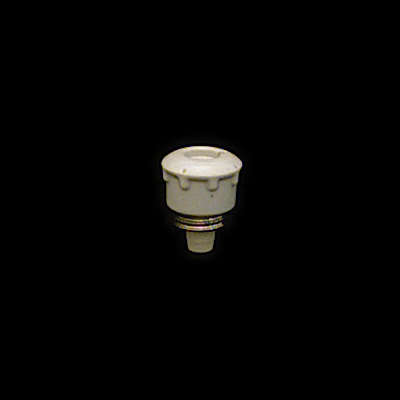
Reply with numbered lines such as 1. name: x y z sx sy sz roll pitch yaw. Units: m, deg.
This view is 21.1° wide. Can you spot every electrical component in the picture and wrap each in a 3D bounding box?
1. electrical component: 0.000 0.000 0.648 0.048 0.063 0.047 1 22 0
